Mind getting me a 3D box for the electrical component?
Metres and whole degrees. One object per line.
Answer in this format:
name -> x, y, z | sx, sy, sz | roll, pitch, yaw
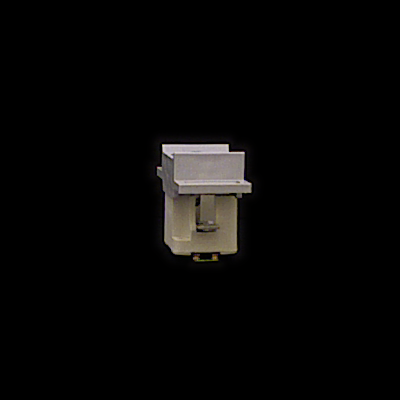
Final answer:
electrical component -> 0.000, 0.000, 0.641 | 0.042, 0.064, 0.080 | 0, 10, -11
